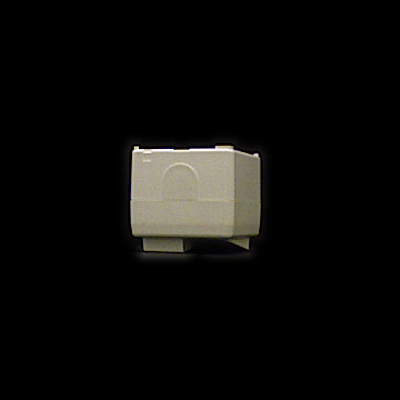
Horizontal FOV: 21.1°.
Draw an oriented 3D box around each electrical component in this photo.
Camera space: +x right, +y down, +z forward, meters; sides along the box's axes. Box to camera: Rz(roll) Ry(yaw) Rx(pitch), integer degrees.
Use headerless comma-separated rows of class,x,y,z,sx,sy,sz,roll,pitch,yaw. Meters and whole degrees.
electrical component,0.000,0.000,0.658,0.061,0.061,0.096,1,0,15
